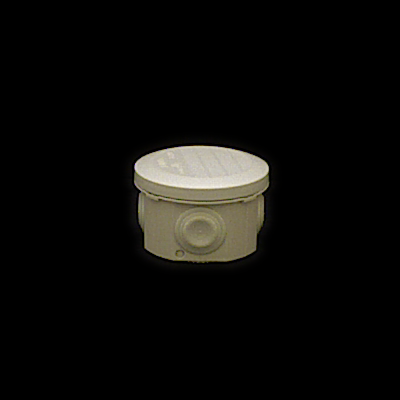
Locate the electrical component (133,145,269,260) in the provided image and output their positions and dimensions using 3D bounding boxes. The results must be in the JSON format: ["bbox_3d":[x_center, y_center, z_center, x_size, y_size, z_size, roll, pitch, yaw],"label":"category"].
[{"bbox_3d":[0.000,0.000,0.643,0.080,0.051,0.079,1,21,0],"label":"electrical component"}]
